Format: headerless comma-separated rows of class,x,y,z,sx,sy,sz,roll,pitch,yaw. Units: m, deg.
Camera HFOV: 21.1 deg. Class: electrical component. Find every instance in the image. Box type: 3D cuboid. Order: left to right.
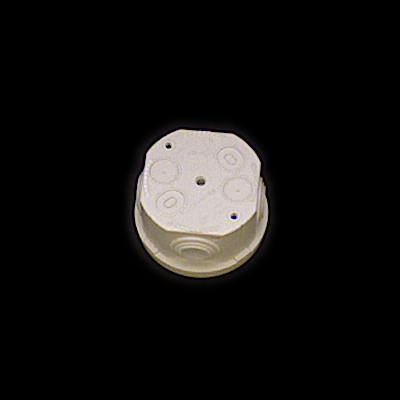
electrical component,0.000,0.000,0.632,0.080,0.080,0.050,0,-28,1
